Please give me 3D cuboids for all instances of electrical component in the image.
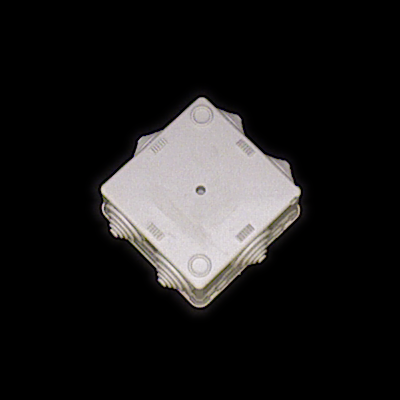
[{"bbox_3d":[0.000,0.000,0.631,0.100,0.100,0.048,-43,-12,-11],"label":"electrical component"}]
